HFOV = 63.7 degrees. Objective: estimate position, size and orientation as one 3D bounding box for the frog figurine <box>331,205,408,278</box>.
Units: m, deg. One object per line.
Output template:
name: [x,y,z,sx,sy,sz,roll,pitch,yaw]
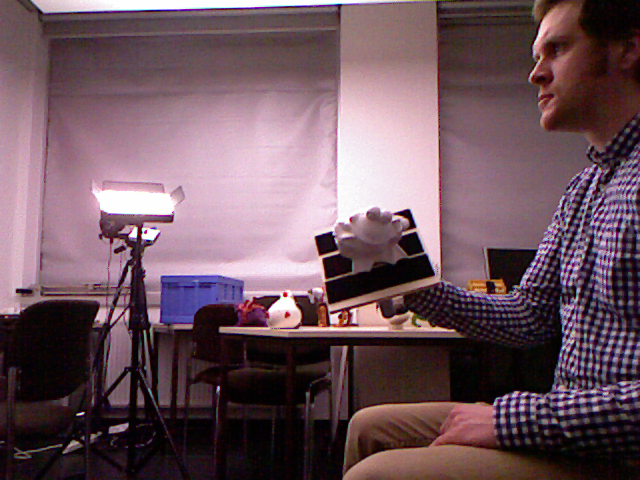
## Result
frog figurine: [0.086,-0.021,0.915,0.138,0.126,0.156,-3,-38,12]
